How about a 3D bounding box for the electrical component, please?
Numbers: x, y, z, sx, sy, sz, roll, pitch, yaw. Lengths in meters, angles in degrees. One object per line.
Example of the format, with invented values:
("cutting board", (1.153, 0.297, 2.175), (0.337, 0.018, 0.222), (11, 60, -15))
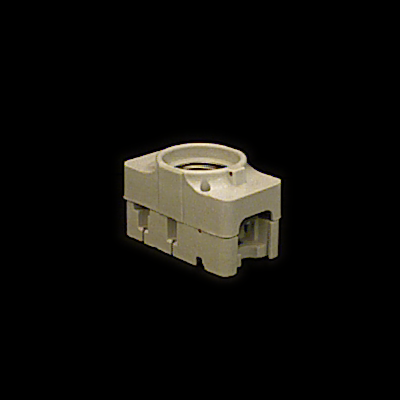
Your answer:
("electrical component", (0.000, 0.000, 0.646), (0.088, 0.056, 0.050), (21, 29, 40))
